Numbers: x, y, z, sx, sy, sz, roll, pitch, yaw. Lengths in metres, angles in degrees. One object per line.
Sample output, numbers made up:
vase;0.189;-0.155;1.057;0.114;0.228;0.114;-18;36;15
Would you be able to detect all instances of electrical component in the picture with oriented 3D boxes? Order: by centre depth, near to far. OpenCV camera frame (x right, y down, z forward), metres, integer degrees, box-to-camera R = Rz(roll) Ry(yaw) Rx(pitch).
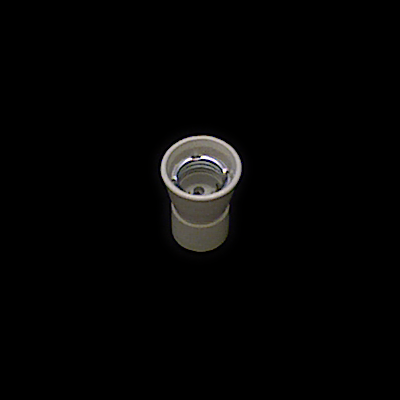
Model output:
electrical component;0.000;0.000;0.625;0.044;0.044;0.065;0;-37;-1
